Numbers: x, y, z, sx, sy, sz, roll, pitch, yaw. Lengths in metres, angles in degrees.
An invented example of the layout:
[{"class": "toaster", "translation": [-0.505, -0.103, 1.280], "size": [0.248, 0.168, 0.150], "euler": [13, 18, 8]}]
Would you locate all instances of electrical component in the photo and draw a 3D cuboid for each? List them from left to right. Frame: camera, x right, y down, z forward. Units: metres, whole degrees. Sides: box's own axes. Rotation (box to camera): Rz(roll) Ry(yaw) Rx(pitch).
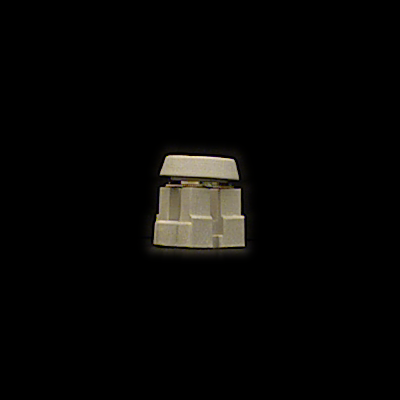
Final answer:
[{"class": "electrical component", "translation": [0.000, 0.000, 0.658], "size": [0.067, 0.055, 0.048], "euler": [0, 4, -40]}]
